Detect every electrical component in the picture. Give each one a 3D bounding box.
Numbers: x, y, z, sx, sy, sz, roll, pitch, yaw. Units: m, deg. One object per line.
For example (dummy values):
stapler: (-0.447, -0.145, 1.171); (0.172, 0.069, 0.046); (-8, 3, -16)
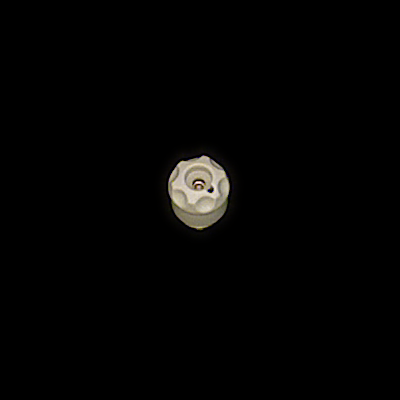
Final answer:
electrical component: (0.000, 0.000, 0.632); (0.035, 0.035, 0.061); (0, -26, 0)
